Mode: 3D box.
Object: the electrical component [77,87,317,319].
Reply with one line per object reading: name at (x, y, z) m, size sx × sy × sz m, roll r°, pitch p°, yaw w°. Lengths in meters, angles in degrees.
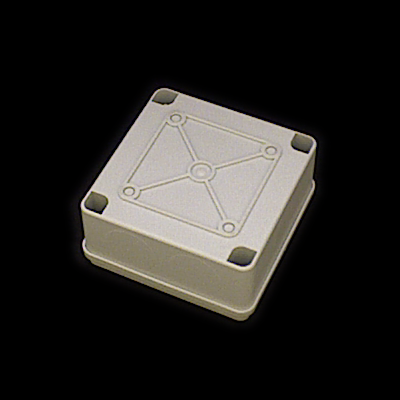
electrical component at (0.000, 0.000, 0.630) m, size 0.108 × 0.108 × 0.056 m, roll 20°, pitch -35°, yaw 15°
